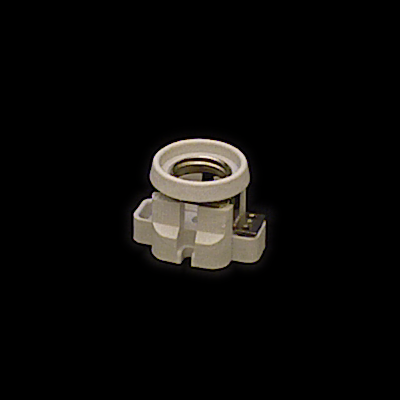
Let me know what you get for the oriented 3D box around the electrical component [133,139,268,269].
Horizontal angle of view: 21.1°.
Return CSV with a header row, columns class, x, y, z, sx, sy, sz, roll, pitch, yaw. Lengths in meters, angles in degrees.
class,x,y,z,sx,sy,sz,roll,pitch,yaw
electrical component,0.000,0.000,0.635,0.078,0.057,0.057,10,33,14
